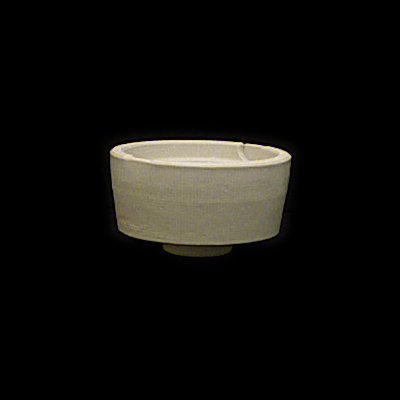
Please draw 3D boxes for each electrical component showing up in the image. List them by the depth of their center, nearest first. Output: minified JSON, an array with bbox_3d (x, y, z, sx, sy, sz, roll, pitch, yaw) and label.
[{"bbox_3d":[0.000,0.000,0.647,0.108,0.061,0.107,2,11,0],"label":"electrical component"}]
